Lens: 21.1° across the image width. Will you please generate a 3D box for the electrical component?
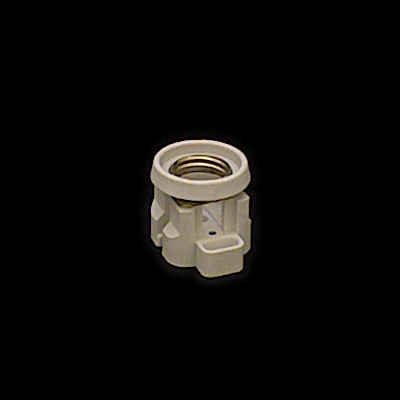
[{"bbox_3d":[0.000,0.000,0.636,0.058,0.057,0.077,-12,34,-20],"label":"electrical component"}]
